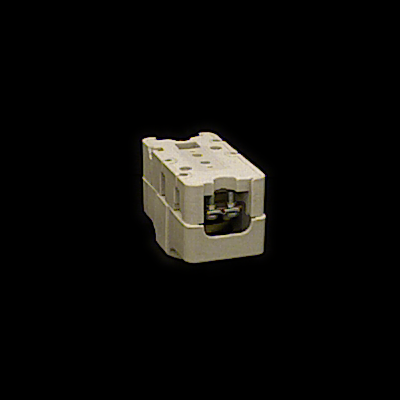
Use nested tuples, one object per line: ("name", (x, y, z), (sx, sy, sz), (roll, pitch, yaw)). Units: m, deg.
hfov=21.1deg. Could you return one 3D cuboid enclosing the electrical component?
("electrical component", (0.000, 0.000, 0.646), (0.050, 0.056, 0.088), (-8, 23, -19))
